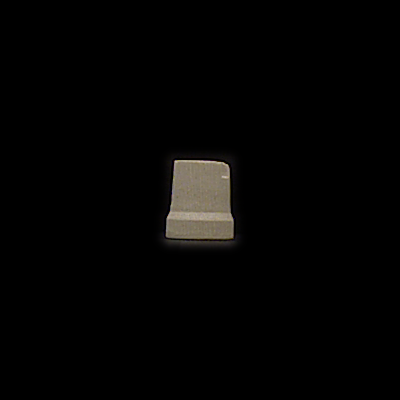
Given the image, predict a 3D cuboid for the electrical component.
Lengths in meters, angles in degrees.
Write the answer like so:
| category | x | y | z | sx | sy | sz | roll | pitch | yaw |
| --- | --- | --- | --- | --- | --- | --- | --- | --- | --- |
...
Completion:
| category | x | y | z | sx | sy | sz | roll | pitch | yaw |
| --- | --- | --- | --- | --- | --- | --- | --- | --- | --- |
| electrical component | 0.000 | 0.000 | 0.649 | 0.040 | 0.046 | 0.040 | 1 | 2 | 0 |
